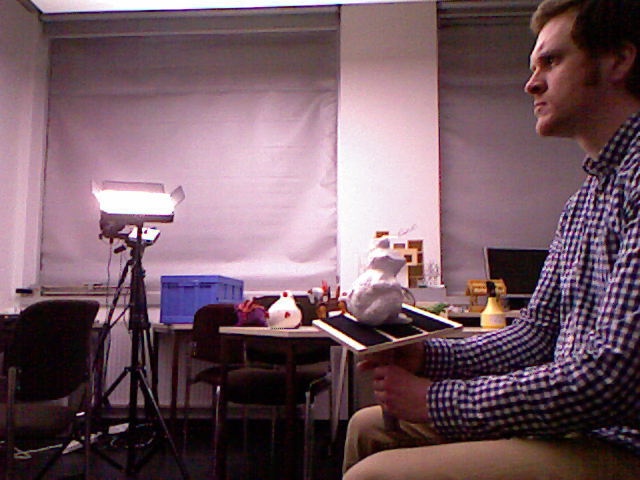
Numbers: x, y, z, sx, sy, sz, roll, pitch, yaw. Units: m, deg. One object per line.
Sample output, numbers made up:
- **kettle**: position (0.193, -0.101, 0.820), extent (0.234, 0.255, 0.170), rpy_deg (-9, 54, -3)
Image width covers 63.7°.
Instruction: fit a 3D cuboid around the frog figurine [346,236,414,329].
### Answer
- **frog figurine**: position (0.105, 0.076, 0.943), extent (0.123, 0.158, 0.138), rpy_deg (-7, 9, -3)
